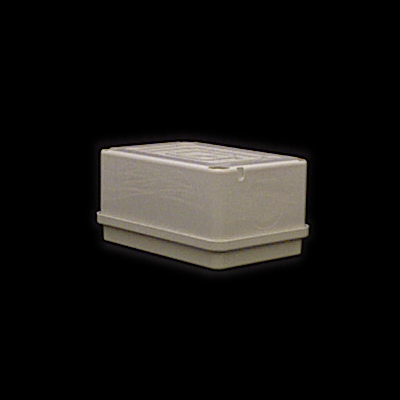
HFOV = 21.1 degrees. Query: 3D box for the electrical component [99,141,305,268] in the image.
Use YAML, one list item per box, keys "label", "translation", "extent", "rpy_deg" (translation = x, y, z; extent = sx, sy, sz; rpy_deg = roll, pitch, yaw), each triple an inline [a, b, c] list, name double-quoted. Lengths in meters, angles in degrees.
- label: "electrical component"
  translation: [0.000, 0.000, 0.644]
  extent: [0.078, 0.057, 0.112]
  rpy_deg: [-8, 14, -42]
